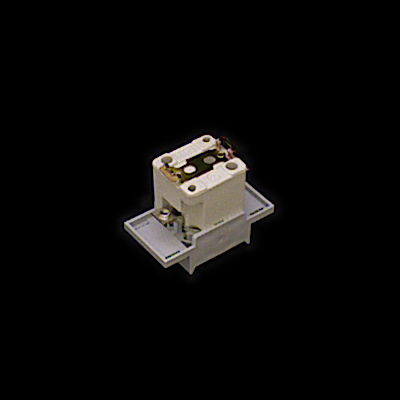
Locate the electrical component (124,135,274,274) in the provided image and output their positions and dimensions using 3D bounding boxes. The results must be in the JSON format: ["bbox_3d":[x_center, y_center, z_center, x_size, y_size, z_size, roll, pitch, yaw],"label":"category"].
[{"bbox_3d":[0.000,0.000,0.629,0.081,0.064,0.042,-27,49,-28],"label":"electrical component"}]
